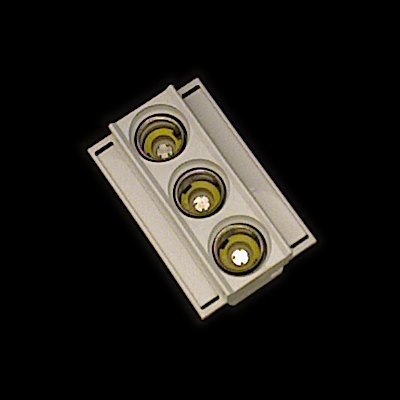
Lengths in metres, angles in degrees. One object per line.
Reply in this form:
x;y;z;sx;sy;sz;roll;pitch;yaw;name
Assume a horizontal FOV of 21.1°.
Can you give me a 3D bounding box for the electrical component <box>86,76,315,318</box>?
0.000;0.000;0.636;0.079;0.121;0.063;-33;-14;-7;electrical component
